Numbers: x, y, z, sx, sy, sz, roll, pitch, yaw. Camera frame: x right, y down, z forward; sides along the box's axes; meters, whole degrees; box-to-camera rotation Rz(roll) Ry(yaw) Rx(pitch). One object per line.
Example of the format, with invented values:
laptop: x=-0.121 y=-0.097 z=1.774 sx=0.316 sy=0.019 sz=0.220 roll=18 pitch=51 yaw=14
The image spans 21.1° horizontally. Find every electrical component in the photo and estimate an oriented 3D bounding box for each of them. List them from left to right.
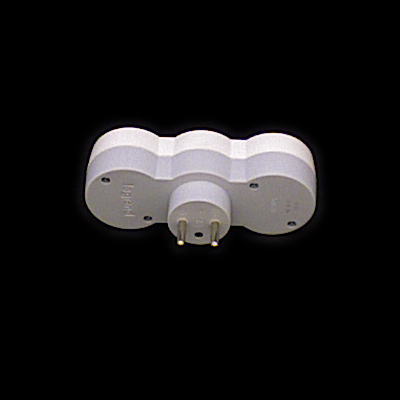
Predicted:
electrical component: x=0.000 y=0.000 z=0.634 sx=0.138 sy=0.052 sz=0.073 roll=2 pitch=44 yaw=0
